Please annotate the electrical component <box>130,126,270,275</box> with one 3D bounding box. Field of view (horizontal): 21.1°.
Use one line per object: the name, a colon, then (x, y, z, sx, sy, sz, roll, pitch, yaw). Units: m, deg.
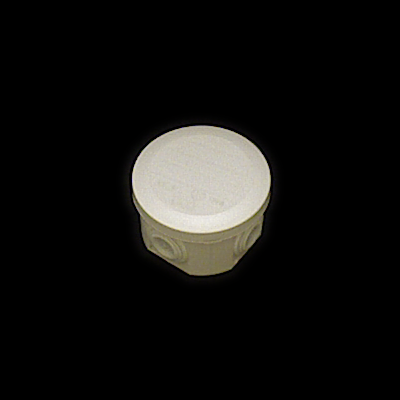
electrical component: (0.000, 0.000, 0.631, 0.080, 0.080, 0.051, 0, -38, 0)
